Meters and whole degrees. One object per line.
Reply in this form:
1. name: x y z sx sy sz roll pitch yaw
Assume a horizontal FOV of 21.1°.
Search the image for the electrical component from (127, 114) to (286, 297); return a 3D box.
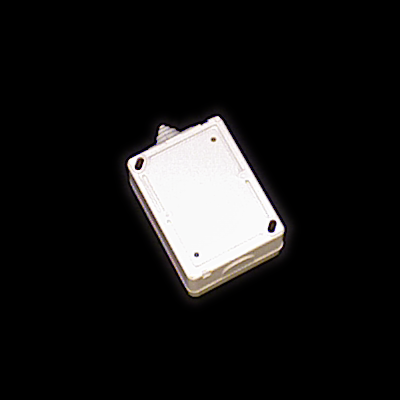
1. electrical component: 0.000 0.000 0.629 0.062 0.096 0.060 -27 -16 -8
